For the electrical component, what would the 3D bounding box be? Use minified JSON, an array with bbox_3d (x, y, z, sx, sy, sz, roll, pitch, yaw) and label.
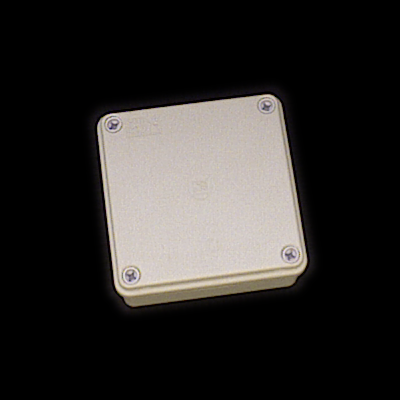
[{"bbox_3d":[0.000,0.000,0.629,0.109,0.109,0.056,-7,-16,-3],"label":"electrical component"}]
